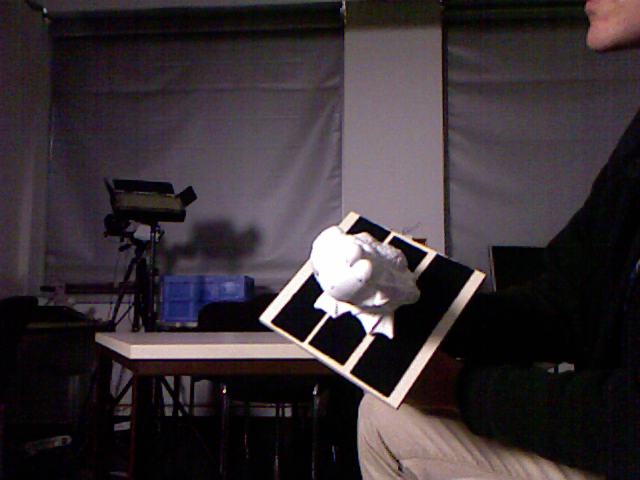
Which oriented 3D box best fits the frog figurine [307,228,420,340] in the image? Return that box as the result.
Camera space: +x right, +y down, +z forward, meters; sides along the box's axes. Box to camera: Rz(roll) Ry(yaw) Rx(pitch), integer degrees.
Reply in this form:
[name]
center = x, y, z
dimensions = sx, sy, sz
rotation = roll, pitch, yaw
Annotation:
[frog figurine]
center = 0.045, 0.031, 0.578
dimensions = 0.139, 0.124, 0.156
rotation = 37, -24, 29
